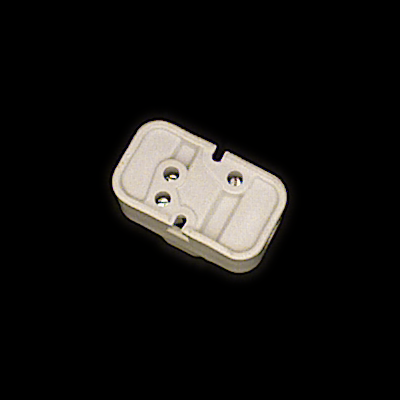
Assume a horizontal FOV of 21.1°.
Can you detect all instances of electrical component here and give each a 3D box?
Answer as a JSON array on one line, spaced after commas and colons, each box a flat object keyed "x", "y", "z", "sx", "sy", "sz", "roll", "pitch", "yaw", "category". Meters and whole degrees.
[{"x": 0.000, "y": 0.000, "z": 0.635, "sx": 0.095, "sy": 0.054, "sz": 0.059, "roll": 27, "pitch": -14, "yaw": 7, "category": "electrical component"}]
